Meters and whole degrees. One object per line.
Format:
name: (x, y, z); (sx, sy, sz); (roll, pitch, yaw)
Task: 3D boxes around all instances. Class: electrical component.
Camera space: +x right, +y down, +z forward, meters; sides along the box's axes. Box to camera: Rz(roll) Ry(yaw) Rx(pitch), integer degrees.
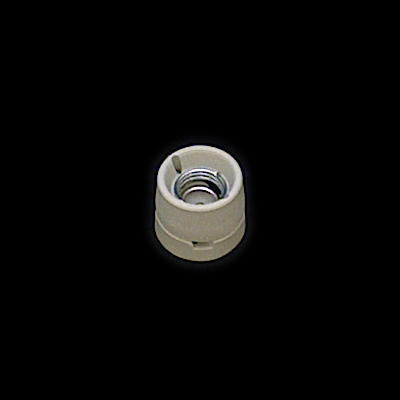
electrical component: (0.000, 0.000, 0.635); (0.055, 0.055, 0.047); (0, -38, 0)
